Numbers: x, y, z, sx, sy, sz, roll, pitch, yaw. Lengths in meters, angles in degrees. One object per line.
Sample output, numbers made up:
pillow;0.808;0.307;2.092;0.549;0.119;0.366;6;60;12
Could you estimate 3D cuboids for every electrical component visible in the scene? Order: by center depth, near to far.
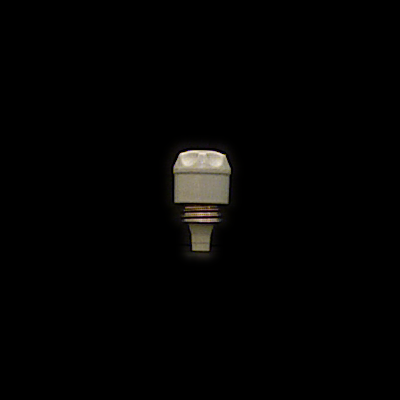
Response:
electrical component;0.000;0.000;0.659;0.035;0.061;0.035;1;1;1
